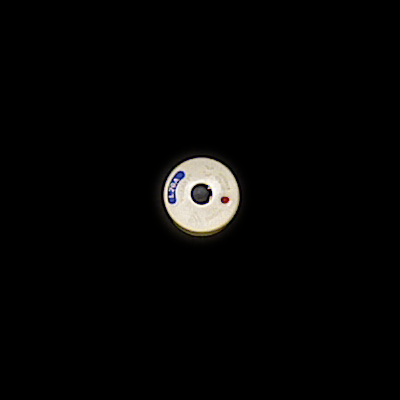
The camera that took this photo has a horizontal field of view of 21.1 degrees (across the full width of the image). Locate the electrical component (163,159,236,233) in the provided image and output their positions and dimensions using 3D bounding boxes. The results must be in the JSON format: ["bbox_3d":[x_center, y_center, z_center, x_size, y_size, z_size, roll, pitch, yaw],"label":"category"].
[{"bbox_3d":[0.000,0.000,0.617,0.040,0.040,0.078,0,-6,0],"label":"electrical component"}]
